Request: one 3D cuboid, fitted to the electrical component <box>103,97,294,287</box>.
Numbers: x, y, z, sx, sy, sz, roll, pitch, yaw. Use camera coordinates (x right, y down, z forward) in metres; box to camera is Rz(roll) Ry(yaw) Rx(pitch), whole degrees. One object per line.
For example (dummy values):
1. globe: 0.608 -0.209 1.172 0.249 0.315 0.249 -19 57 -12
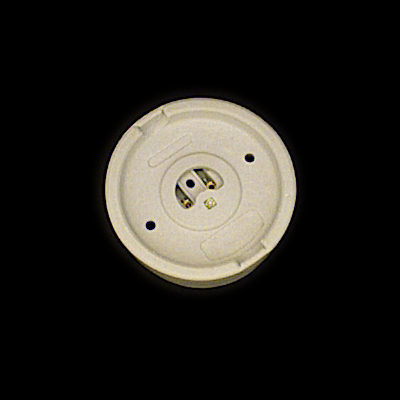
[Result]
1. electrical component: 0.000 0.000 0.633 0.108 0.108 0.060 0 -16 0
